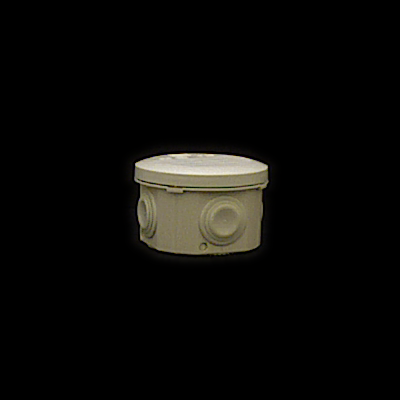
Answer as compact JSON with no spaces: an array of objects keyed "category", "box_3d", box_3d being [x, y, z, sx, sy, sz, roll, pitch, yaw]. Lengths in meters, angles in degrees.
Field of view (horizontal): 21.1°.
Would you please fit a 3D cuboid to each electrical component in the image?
[{"category":"electrical component","box_3d":[0.000,0.000,0.647,0.080,0.051,0.079,1,11,0]}]
